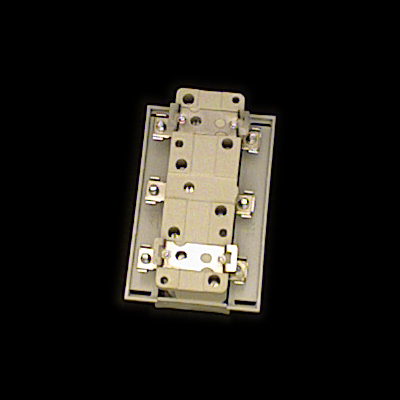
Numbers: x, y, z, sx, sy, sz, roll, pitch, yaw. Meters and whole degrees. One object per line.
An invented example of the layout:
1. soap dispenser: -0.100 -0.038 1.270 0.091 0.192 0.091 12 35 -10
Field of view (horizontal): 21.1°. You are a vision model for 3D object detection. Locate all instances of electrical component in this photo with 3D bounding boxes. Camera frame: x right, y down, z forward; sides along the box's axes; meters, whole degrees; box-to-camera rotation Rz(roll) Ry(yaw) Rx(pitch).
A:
1. electrical component: 0.000 0.000 0.634 0.079 0.122 0.062 5 -16 1
